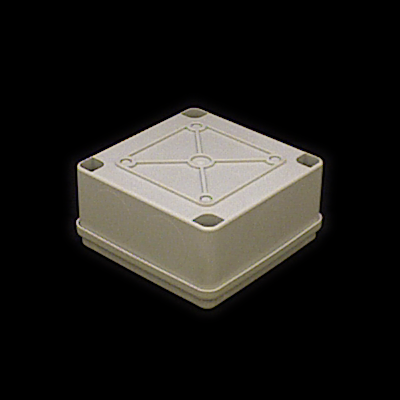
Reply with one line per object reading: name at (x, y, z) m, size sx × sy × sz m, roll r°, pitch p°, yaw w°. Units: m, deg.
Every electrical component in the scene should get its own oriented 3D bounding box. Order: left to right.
electrical component at (0.000, 0.000, 0.633) m, size 0.108 × 0.057 × 0.108 m, roll 25°, pitch 40°, yaw 34°
